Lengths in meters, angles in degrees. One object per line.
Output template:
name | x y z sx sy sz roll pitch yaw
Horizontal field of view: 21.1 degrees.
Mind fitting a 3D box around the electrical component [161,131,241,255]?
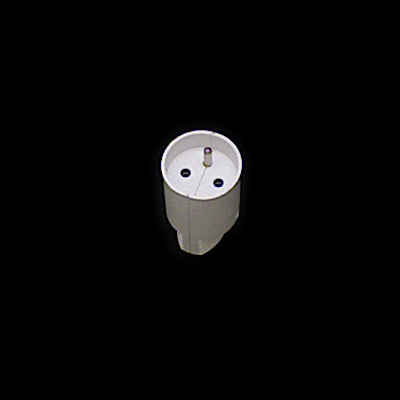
electrical component | 0.000 0.000 0.617 0.043 0.043 0.081 0 -28 -1
